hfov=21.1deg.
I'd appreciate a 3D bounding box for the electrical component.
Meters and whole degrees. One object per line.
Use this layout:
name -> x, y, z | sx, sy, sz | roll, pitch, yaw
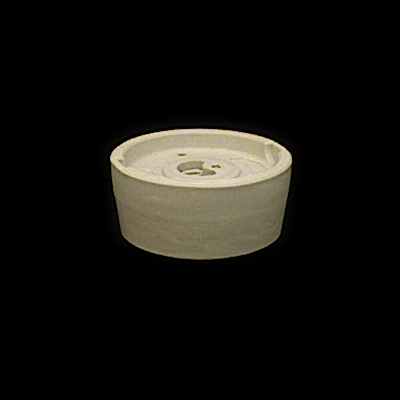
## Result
electrical component -> 0.000, 0.000, 0.649 | 0.108, 0.061, 0.106 | 1, 21, 0
